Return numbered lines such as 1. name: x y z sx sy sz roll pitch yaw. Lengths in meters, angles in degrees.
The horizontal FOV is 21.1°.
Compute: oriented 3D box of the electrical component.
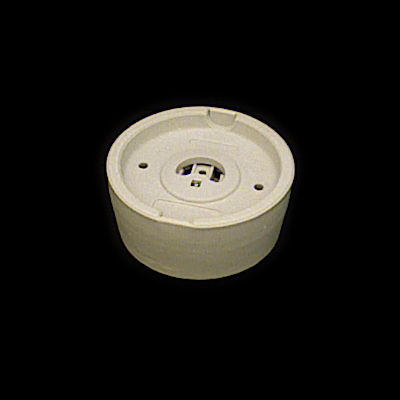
1. electrical component: 0.000 0.000 0.635 0.108 0.061 0.107 1 42 0
